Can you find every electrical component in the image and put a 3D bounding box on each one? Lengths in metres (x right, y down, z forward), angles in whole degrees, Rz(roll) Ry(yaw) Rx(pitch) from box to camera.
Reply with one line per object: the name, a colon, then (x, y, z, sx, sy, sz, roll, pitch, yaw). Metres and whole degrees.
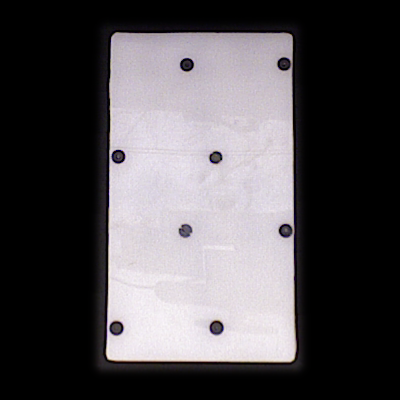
electrical component: (0.000, 0.000, 0.626, 0.105, 0.187, 0.060, 0, -7, 1)
